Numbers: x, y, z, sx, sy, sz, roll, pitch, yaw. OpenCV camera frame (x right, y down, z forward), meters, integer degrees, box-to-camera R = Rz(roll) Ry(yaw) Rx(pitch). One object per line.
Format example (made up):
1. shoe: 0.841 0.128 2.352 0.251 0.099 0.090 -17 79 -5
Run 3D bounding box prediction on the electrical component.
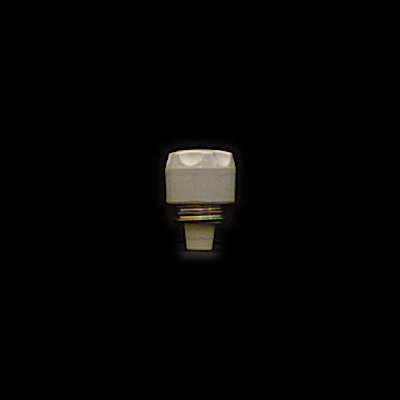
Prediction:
1. electrical component: 0.000 0.000 0.656 0.043 0.062 0.043 1 2 1
